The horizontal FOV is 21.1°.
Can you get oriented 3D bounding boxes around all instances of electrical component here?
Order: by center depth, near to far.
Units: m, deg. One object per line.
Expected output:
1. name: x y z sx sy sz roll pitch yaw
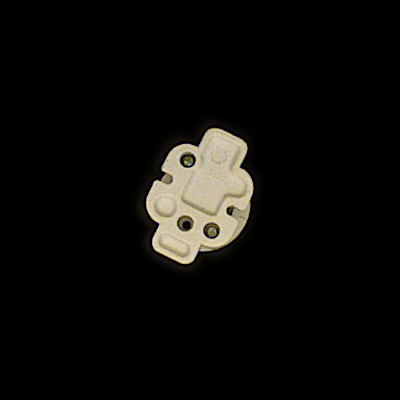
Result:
1. electrical component: 0.000 0.000 0.637 0.058 0.079 0.056 25 -6 4
